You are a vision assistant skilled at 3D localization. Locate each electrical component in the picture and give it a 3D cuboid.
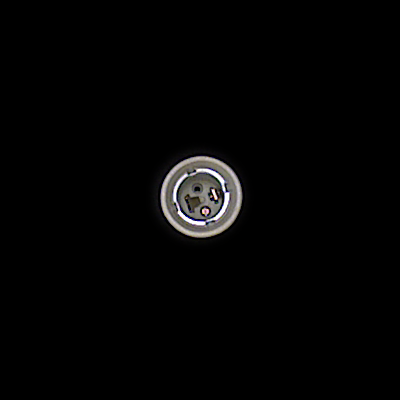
[{"bbox_3d":[0.000,0.000,0.624,0.044,0.044,0.065,0,-5,0],"label":"electrical component"}]
